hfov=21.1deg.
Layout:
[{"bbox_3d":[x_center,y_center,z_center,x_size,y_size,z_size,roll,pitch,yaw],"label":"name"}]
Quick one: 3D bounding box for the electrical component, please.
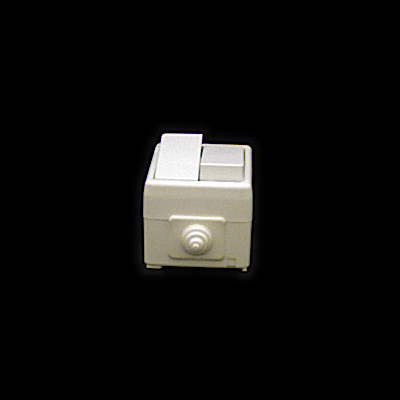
[{"bbox_3d":[0.000,0.000,0.636,0.062,0.061,0.095,2,20,2],"label":"electrical component"}]
